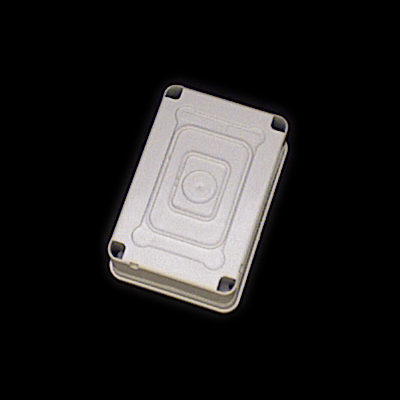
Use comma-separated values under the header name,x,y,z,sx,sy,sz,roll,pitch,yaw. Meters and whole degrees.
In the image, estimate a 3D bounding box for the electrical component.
name,x,y,z,sx,sy,sz,roll,pitch,yaw
electrical component,0.000,0.000,0.628,0.078,0.113,0.057,17,-17,5
